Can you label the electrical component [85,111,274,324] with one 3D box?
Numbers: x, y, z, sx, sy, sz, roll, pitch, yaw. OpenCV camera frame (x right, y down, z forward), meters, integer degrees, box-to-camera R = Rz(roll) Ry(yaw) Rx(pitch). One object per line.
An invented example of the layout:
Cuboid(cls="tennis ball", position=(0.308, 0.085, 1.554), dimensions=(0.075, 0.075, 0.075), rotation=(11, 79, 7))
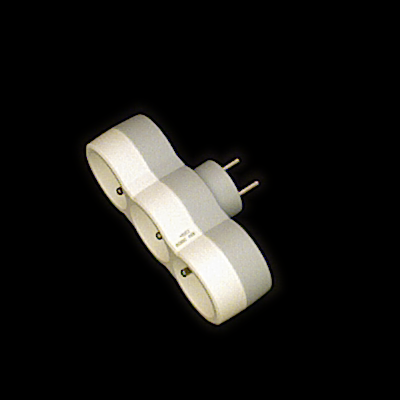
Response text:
Cuboid(cls="electrical component", position=(0.000, 0.000, 0.638), dimensions=(0.074, 0.137, 0.052), rotation=(-33, -22, -17))
